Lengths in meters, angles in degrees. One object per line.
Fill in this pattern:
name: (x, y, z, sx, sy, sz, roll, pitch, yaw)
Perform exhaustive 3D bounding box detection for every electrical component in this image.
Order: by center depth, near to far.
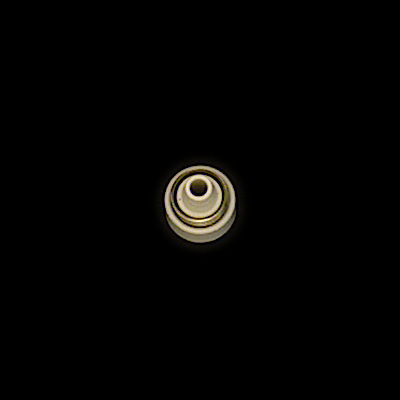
electrical component: (0.000, 0.000, 0.633, 0.043, 0.043, 0.061, 0, -15, 1)
